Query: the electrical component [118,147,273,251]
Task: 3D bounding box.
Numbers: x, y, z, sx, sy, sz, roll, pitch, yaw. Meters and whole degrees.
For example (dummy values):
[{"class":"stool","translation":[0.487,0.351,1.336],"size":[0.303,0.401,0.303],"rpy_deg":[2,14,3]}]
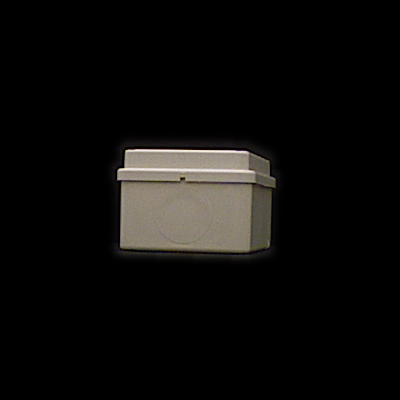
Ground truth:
[{"class":"electrical component","translation":[0.000,0.000,0.649],"size":[0.078,0.057,0.113],"rpy_deg":[1,0,10]}]
